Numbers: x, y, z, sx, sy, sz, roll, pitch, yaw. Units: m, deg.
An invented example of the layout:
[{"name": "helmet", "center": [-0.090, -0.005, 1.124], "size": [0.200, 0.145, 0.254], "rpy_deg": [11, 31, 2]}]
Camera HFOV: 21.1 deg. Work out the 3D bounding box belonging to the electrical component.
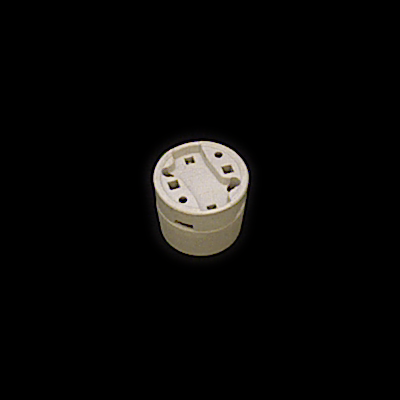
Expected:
[{"name": "electrical component", "center": [0.000, 0.000, 0.635], "size": [0.055, 0.055, 0.047], "rpy_deg": [0, -38, -1]}]
